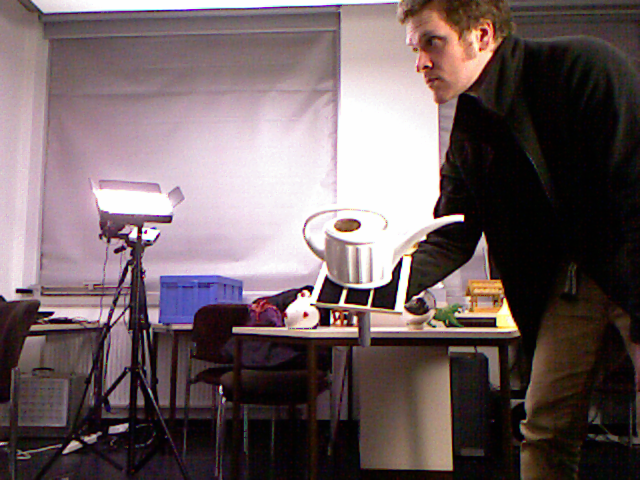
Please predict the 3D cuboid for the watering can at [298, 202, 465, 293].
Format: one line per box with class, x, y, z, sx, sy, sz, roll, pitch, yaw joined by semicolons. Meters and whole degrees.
watering can;0.126;0.016;1.115;0.348;0.219;0.106;3;38;11
